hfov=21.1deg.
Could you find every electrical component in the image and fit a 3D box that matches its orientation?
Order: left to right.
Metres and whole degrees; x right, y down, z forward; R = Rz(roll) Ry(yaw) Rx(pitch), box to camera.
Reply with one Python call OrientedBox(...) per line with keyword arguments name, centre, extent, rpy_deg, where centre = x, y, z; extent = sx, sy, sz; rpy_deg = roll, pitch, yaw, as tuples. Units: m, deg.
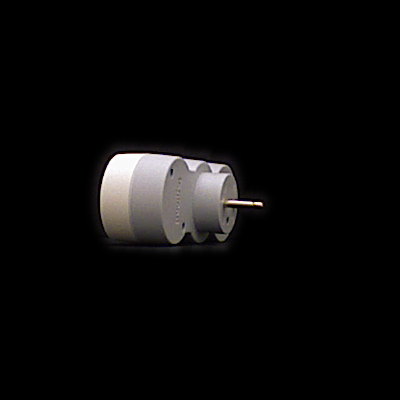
OrientedBox(name="electrical component", centre=(0.000, 0.000, 0.653), extent=(0.073, 0.052, 0.138), rpy_deg=(3, 0, 19))
